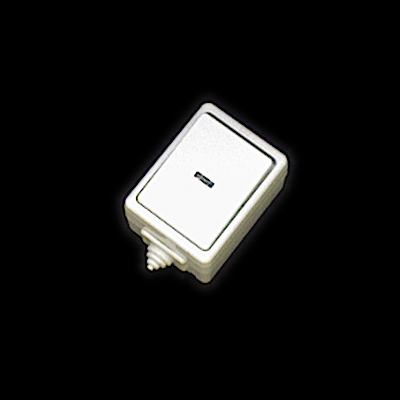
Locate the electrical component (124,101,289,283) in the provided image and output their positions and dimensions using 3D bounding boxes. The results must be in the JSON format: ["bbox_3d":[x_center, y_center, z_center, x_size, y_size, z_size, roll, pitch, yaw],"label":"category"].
[{"bbox_3d":[0.000,0.000,0.625,0.062,0.097,0.060,36,-14,10],"label":"electrical component"}]
